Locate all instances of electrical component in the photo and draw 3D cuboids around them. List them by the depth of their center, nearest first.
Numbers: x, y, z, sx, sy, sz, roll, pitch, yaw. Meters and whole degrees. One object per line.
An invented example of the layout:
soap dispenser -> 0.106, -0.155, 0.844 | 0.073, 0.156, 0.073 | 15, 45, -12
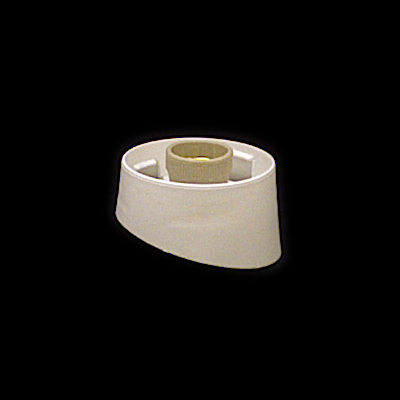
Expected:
electrical component -> 0.000, 0.000, 0.637 | 0.099, 0.065, 0.097 | 2, 21, 0
